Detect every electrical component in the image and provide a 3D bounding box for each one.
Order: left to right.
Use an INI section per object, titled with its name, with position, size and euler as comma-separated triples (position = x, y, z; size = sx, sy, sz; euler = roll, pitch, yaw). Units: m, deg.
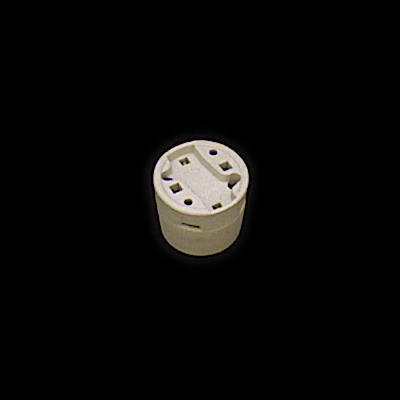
[electrical component]
position = 0.000, 0.000, 0.634
size = 0.055, 0.055, 0.047
euler = 0, -38, 0
